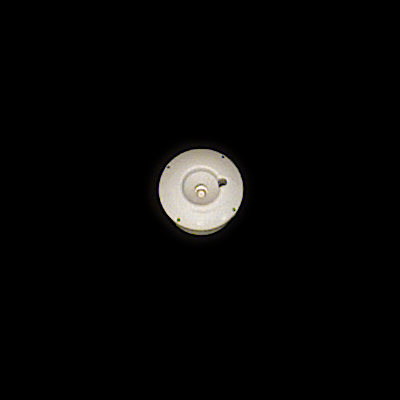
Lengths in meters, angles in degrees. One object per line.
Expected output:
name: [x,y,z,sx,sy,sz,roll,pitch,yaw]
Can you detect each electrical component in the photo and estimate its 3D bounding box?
electrical component: [0.000,0.000,0.634,0.048,0.048,0.062,0,-16,1]
